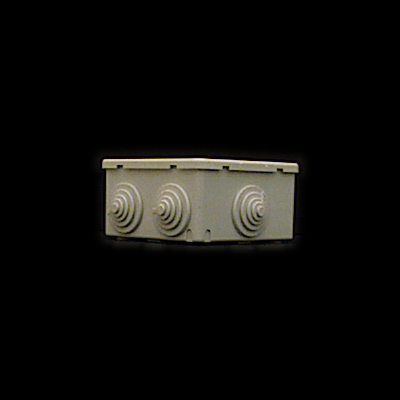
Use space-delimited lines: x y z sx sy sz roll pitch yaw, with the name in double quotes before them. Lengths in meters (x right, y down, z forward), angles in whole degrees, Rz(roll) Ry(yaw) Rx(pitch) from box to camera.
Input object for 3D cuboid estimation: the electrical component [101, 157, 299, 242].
"electrical component" 0.000 0.000 0.655 0.098 0.048 0.101 2 2 45
